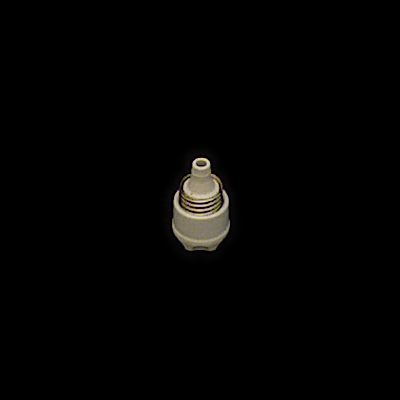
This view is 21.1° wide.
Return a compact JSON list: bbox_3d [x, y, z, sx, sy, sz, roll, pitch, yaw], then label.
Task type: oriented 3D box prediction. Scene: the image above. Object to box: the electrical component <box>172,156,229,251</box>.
[{"bbox_3d":[0.000,0.000,0.644,0.035,0.062,0.034,0,44,0],"label":"electrical component"}]
